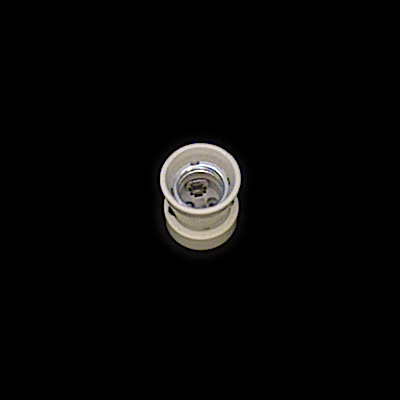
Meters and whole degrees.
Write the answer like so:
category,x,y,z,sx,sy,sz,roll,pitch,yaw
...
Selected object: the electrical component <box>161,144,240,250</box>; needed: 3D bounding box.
category,x,y,z,sx,sy,sz,roll,pitch,yaw
electrical component,0.000,0.000,0.628,0.045,0.045,0.055,0,-28,0
